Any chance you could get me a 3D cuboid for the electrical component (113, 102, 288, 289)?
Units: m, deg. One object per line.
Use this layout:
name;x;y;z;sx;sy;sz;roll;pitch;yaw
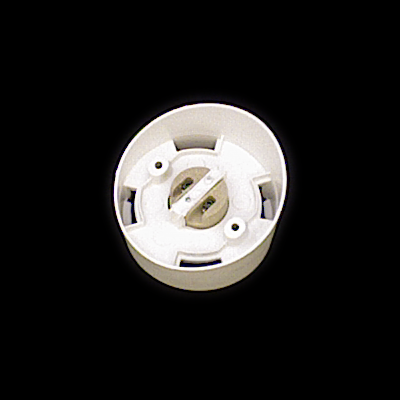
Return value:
electrical component;0.000;0.000;0.625;0.099;0.099;0.064;0;-28;-1
